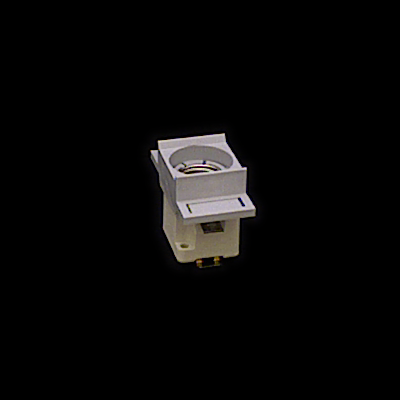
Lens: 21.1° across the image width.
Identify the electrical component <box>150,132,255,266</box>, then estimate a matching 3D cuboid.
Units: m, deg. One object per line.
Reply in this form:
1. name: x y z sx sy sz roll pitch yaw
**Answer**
1. electrical component: 0.000 0.000 0.635 0.042 0.065 0.079 -8 33 -13
